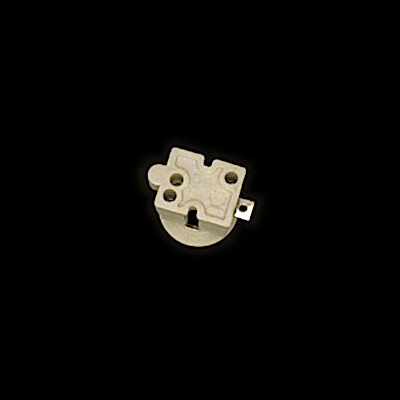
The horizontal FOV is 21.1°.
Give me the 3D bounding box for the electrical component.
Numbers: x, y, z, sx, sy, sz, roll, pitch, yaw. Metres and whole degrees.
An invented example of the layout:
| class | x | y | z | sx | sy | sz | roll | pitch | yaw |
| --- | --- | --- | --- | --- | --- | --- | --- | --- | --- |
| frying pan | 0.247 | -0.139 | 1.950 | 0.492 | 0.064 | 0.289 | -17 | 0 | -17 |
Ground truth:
| class | x | y | z | sx | sy | sz | roll | pitch | yaw |
| --- | --- | --- | --- | --- | --- | --- | --- | --- | --- |
| electrical component | 0.000 | 0.000 | 0.637 | 0.066 | 0.049 | 0.055 | 16 | -16 | 4 |
